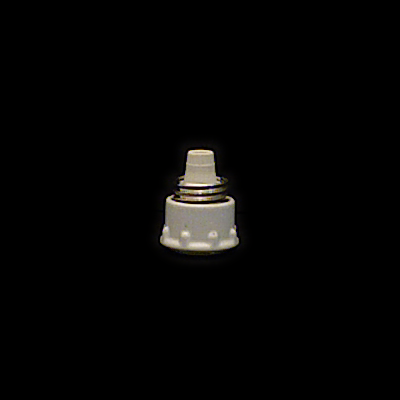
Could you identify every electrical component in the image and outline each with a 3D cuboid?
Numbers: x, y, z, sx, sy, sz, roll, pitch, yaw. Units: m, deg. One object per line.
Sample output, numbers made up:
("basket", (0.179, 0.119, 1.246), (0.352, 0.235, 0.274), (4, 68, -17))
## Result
("electrical component", (0.000, 0.000, 0.649), (0.048, 0.062, 0.048), (1, 13, 0))
